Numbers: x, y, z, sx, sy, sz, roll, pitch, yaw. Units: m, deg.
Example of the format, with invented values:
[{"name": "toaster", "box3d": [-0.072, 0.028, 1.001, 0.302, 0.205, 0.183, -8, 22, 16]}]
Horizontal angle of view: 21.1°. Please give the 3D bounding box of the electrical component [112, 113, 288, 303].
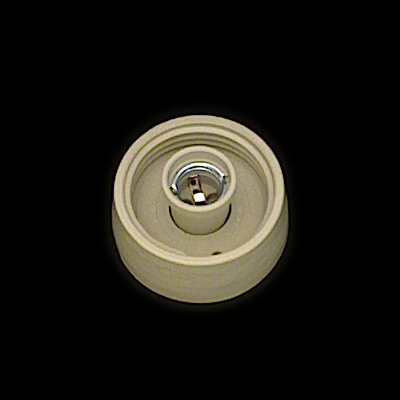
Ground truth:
[{"name": "electrical component", "box3d": [0.000, 0.000, 0.633, 0.108, 0.108, 0.060, 0, -26, 0]}]
